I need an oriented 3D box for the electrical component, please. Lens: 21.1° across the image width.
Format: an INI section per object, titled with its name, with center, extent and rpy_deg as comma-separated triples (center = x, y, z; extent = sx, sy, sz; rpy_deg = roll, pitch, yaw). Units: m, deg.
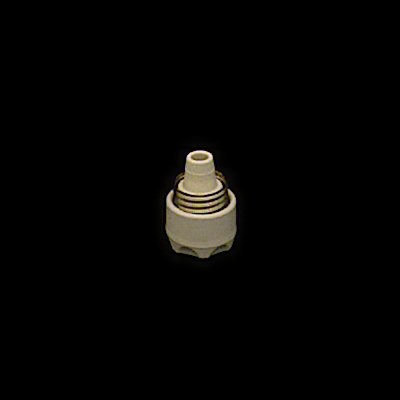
[electrical component]
center = 0.000, 0.000, 0.641
extent = 0.043, 0.063, 0.043
rpy_deg = 0, 32, 1
